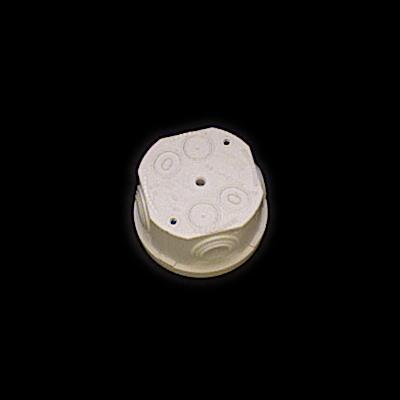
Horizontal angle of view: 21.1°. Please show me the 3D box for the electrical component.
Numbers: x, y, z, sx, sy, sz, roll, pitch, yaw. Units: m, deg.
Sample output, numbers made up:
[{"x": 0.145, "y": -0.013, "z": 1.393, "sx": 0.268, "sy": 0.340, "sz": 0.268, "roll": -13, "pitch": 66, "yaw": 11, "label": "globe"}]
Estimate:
[{"x": 0.000, "y": 0.000, "z": 0.631, "sx": 0.080, "sy": 0.080, "sz": 0.050, "roll": 0, "pitch": -27, "yaw": 0, "label": "electrical component"}]
